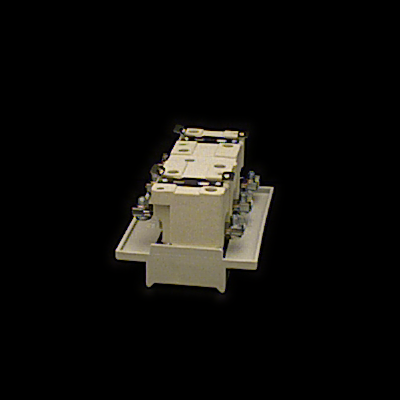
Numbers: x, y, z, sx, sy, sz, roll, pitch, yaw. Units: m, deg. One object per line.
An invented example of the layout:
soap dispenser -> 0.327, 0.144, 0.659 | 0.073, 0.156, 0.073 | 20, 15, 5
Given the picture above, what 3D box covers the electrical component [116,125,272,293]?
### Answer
electrical component -> 0.000, 0.000, 0.646 | 0.078, 0.064, 0.120 | 4, 22, 6
